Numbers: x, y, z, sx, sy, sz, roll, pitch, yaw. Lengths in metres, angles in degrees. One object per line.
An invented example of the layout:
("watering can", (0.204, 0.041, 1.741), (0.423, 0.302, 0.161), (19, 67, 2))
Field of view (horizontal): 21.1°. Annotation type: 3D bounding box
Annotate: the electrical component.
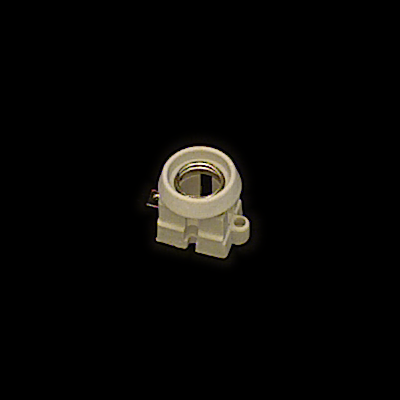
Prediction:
("electrical component", (0.000, 0.000, 0.637), (0.066, 0.048, 0.055), (13, -38, 9))
